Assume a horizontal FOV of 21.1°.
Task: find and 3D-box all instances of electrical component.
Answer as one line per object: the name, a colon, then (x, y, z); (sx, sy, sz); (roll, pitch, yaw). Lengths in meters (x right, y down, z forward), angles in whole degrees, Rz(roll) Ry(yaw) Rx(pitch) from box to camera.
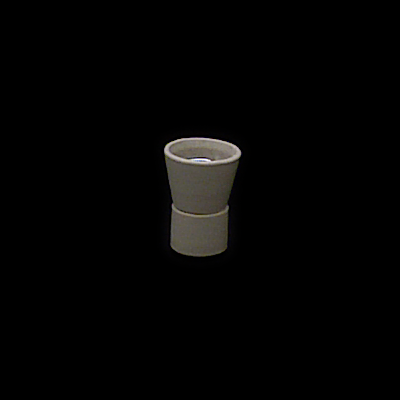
electrical component: (0.000, 0.000, 0.638); (0.044, 0.066, 0.044); (2, 22, -1)
